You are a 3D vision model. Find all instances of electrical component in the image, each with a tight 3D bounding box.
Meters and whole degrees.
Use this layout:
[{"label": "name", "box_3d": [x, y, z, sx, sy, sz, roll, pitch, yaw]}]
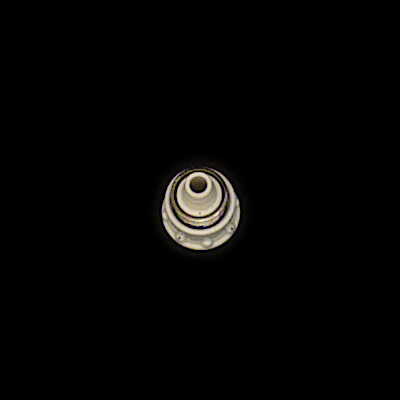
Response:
[{"label": "electrical component", "box_3d": [0.000, 0.000, 0.634, 0.048, 0.048, 0.061, 0, -17, 1]}]
